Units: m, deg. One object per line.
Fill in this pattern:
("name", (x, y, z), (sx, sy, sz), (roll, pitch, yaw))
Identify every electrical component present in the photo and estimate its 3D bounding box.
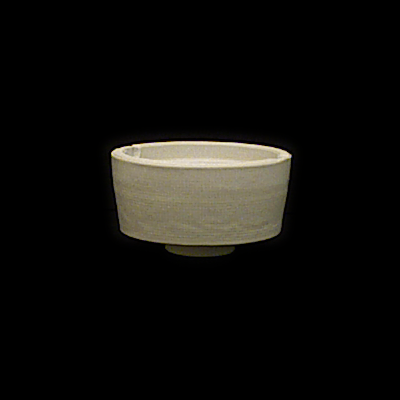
("electrical component", (0.000, 0.000, 0.652), (0.108, 0.061, 0.107), (1, 11, 0))
